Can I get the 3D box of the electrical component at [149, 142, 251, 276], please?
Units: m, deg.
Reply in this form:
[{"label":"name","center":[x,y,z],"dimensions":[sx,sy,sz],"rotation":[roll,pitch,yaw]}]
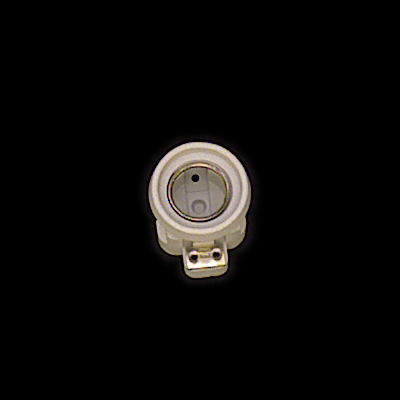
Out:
[{"label":"electrical component","center":[0.000,0.000,0.628],"dimensions":[0.058,0.079,0.056],"rotation":[-7,-16,-2]}]
